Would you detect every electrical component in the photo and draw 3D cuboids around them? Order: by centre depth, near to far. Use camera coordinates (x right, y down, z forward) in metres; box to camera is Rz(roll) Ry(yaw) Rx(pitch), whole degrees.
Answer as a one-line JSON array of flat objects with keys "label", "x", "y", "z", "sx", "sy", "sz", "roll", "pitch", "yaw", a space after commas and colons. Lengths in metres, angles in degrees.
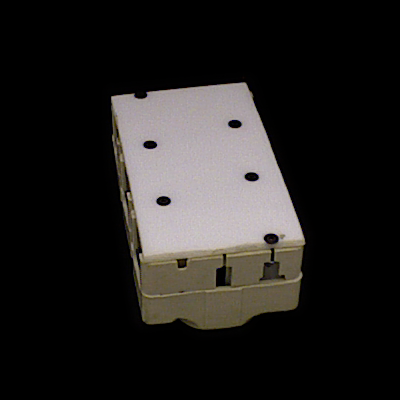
[{"label": "electrical component", "x": 0.000, "y": 0.000, "z": 0.638, "sx": 0.090, "sy": 0.063, "sz": 0.147, "roll": -6, "pitch": 42, "yaw": -8}]
